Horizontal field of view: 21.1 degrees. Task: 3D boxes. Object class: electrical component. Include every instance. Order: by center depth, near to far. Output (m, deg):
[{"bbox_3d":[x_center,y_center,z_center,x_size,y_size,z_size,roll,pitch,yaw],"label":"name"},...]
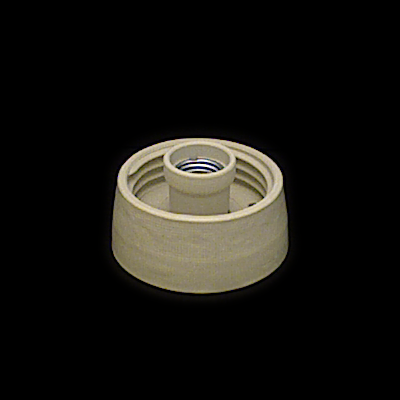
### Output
[{"bbox_3d":[0.000,0.000,0.642,0.108,0.061,0.106,1,32,0],"label":"electrical component"}]
